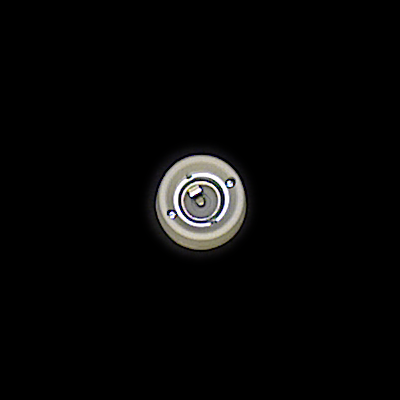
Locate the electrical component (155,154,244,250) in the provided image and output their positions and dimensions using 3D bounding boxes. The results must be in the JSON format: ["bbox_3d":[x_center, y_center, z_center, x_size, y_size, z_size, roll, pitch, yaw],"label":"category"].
[{"bbox_3d":[0.000,0.000,0.634,0.055,0.055,0.047,0,-7,-1],"label":"electrical component"}]
